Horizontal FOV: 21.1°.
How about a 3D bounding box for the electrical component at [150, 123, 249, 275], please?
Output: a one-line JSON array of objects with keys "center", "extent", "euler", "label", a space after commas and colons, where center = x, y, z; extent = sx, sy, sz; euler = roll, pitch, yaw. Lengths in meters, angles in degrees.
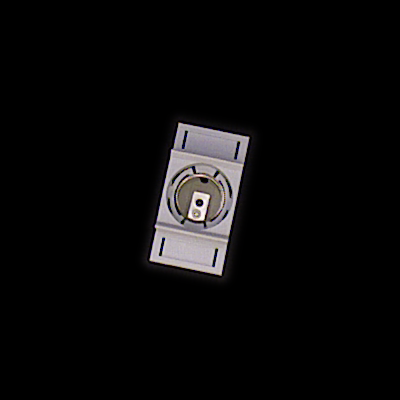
[{"center": [0.000, 0.000, 0.624], "extent": [0.042, 0.081, 0.063], "euler": [12, -7, 0], "label": "electrical component"}]
